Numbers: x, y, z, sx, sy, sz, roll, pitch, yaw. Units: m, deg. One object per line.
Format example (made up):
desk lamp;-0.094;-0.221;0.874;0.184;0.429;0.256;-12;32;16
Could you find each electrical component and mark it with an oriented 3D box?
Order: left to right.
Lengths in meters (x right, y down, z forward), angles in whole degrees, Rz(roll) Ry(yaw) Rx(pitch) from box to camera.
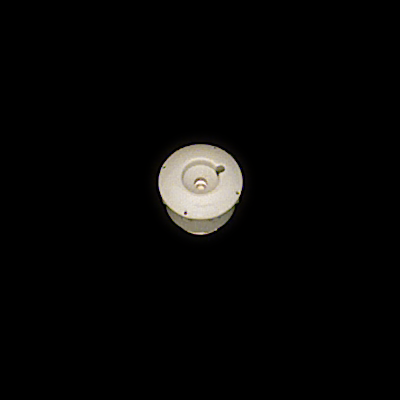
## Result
electrical component;0.000;0.000;0.634;0.048;0.048;0.062;0;-26;0
